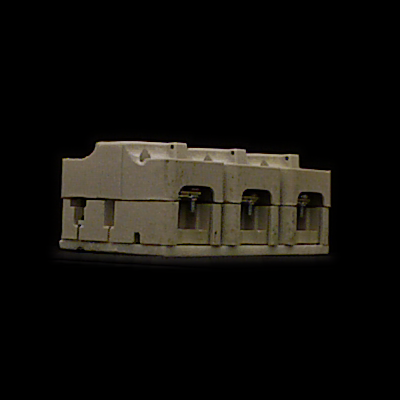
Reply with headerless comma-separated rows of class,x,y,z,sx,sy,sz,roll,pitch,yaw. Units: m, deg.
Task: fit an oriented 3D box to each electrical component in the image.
electrical component,0.000,0.000,0.656,0.089,0.062,0.150,2,0,42
